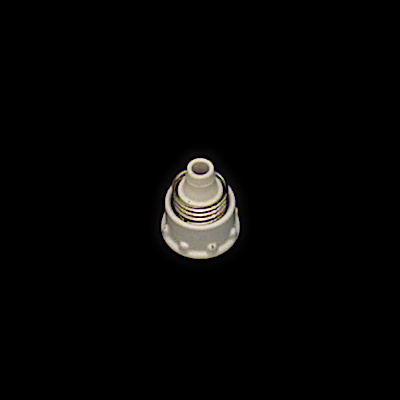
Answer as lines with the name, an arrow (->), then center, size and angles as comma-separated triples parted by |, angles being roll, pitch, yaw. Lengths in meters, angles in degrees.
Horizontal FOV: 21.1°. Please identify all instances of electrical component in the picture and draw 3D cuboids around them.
electrical component -> 0.000, 0.000, 0.636 | 0.048, 0.048, 0.062 | 0, -38, -1
